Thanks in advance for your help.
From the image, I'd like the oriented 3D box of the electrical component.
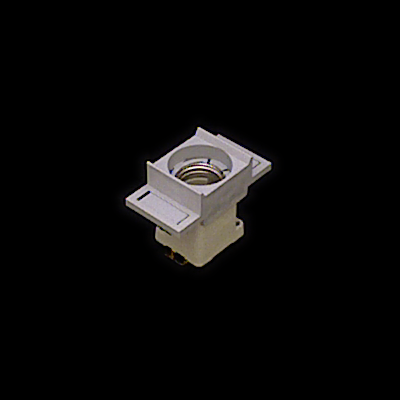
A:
[{"bbox_3d":[0.000,0.000,0.631,0.042,0.064,0.080,31,50,31],"label":"electrical component"}]
